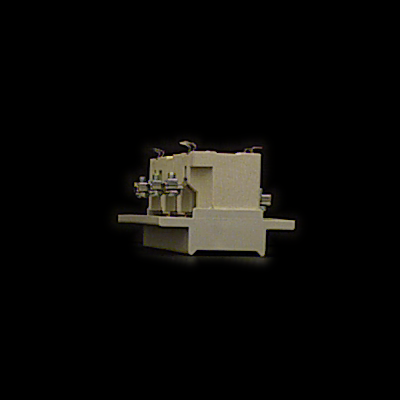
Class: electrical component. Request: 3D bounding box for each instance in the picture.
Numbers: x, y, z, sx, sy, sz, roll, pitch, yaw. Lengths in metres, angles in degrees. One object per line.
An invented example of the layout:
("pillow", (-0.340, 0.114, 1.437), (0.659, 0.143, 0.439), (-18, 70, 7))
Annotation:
("electrical component", (0.000, 0.000, 0.658), (0.079, 0.063, 0.121), (2, 0, -15))
